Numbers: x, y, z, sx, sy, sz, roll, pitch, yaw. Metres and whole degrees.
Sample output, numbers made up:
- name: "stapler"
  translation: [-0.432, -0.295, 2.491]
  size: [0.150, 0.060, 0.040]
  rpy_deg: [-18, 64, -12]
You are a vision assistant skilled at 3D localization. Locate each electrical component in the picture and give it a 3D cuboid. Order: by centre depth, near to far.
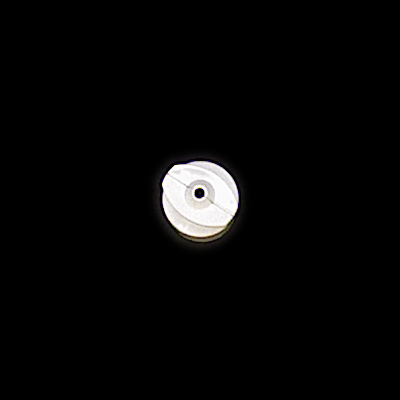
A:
- name: "electrical component"
  translation: [0.000, 0.000, 0.616]
  size: [0.043, 0.043, 0.080]
  rpy_deg: [0, -6, 1]
